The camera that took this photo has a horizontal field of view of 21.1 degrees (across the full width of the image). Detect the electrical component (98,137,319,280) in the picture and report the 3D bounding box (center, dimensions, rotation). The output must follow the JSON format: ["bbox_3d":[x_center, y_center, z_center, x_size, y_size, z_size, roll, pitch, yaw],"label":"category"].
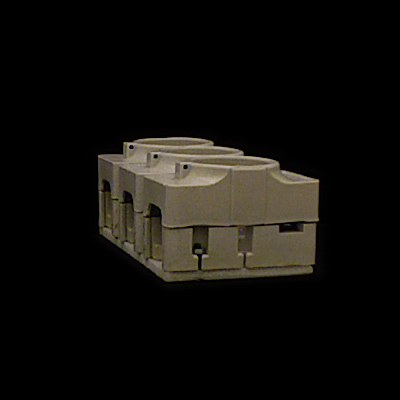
[{"bbox_3d":[0.000,0.000,0.649,0.090,0.062,0.148,-3,10,-20],"label":"electrical component"}]
